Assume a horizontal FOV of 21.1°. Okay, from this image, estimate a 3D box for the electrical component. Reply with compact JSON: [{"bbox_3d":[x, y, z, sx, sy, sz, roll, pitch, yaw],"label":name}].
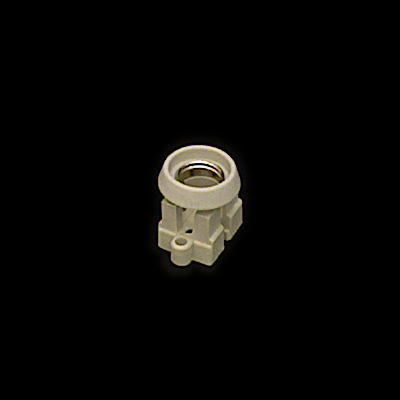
[{"bbox_3d":[0.000,0.000,0.641,0.048,0.056,0.066,20,46,17],"label":"electrical component"}]
